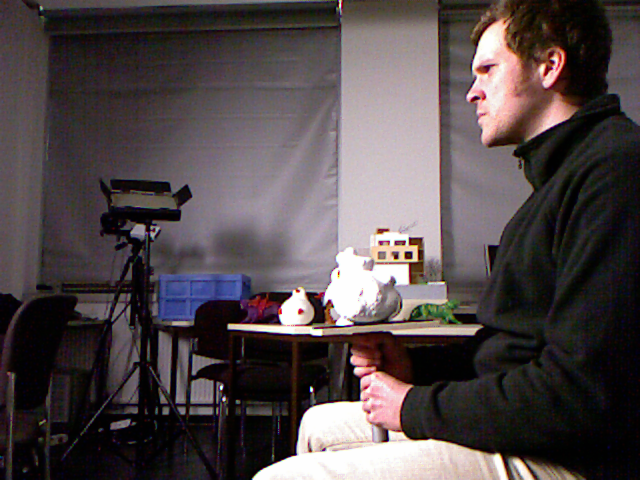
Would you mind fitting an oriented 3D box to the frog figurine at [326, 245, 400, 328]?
[{"bbox_3d":[0.080,0.088,0.983,0.137,0.160,0.122,-7,-5,15],"label":"frog figurine"}]
